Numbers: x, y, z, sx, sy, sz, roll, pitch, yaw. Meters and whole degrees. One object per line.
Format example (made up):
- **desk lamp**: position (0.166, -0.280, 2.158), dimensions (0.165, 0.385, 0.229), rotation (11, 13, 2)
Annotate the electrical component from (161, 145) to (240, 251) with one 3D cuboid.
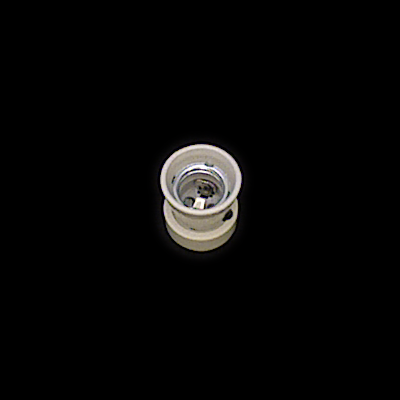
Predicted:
- **electrical component**: position (0.000, 0.000, 0.628), dimensions (0.045, 0.045, 0.055), rotation (0, -28, -1)
